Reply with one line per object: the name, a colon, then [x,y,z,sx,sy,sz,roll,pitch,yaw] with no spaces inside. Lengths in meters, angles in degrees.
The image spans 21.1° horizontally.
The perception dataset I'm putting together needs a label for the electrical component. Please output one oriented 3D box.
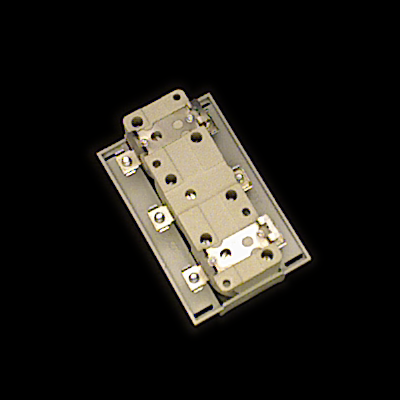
electrical component: [0.000,0.000,0.634,0.079,0.121,0.063,-29,-14,-8]
